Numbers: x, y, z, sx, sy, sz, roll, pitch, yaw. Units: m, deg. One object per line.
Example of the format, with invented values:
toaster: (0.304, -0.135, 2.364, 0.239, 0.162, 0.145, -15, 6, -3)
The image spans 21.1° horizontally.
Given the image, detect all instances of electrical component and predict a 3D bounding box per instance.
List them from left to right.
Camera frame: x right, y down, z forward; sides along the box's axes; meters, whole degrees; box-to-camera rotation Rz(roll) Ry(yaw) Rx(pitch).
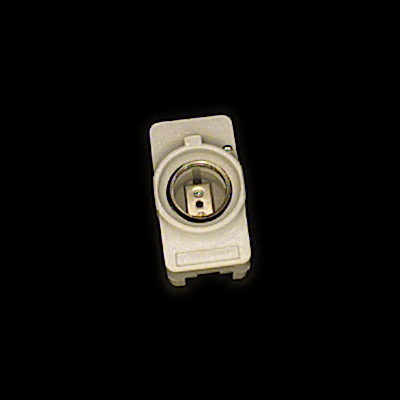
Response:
electrical component: (0.000, 0.000, 0.636, 0.050, 0.090, 0.055, -7, -16, -2)
